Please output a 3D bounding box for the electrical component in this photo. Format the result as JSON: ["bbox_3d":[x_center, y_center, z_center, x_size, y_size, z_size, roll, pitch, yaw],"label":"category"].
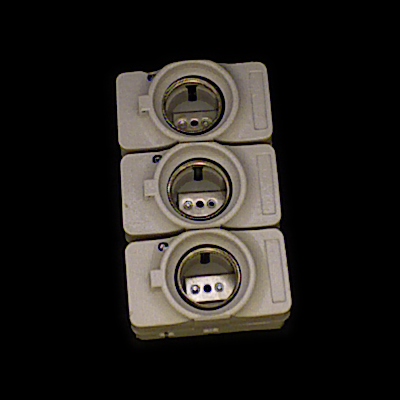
[{"bbox_3d":[0.000,0.000,0.631,0.089,0.150,0.062,-5,-17,-1],"label":"electrical component"}]
